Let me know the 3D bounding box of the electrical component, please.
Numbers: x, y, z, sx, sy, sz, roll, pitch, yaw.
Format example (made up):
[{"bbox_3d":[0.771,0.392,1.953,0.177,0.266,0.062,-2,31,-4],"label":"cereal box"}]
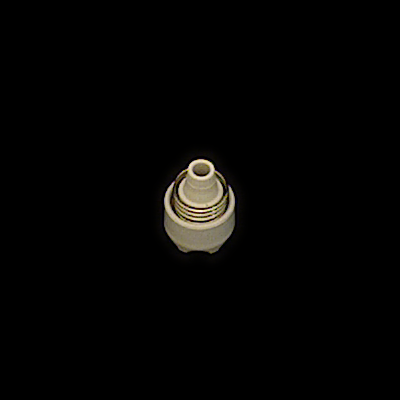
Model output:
[{"bbox_3d":[0.000,0.000,0.635,0.043,0.043,0.062,0,-37,-2],"label":"electrical component"}]
